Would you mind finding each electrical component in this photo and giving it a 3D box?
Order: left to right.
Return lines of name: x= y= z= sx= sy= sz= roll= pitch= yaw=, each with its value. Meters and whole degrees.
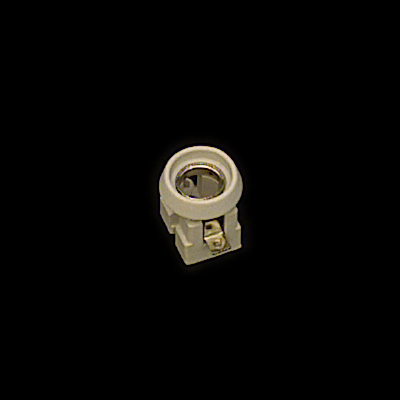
electrical component: x=0.000 y=0.000 z=0.638 sx=0.048 sy=0.066 sz=0.056 roll=-21 pitch=-34 yaw=-13
